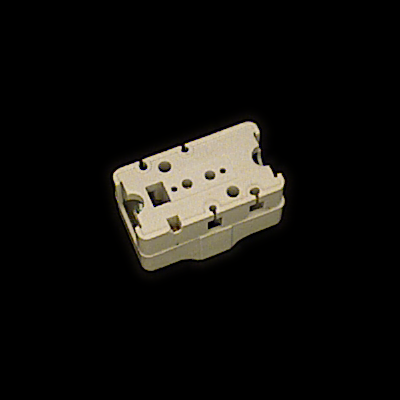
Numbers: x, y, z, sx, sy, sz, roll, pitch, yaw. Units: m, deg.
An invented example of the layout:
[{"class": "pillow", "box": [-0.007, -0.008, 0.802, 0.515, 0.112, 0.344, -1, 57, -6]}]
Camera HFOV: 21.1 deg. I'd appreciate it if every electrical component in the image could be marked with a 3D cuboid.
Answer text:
[{"class": "electrical component", "box": [0.000, 0.000, 0.636, 0.090, 0.050, 0.055, -21, -24, -10]}]
